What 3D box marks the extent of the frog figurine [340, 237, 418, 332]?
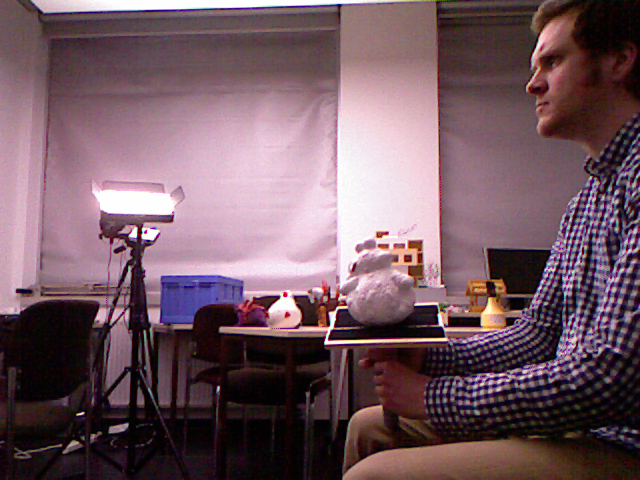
[{"bbox_3d":[0.105,0.077,0.931,0.137,0.158,0.124,1,16,25],"label":"frog figurine"}]
